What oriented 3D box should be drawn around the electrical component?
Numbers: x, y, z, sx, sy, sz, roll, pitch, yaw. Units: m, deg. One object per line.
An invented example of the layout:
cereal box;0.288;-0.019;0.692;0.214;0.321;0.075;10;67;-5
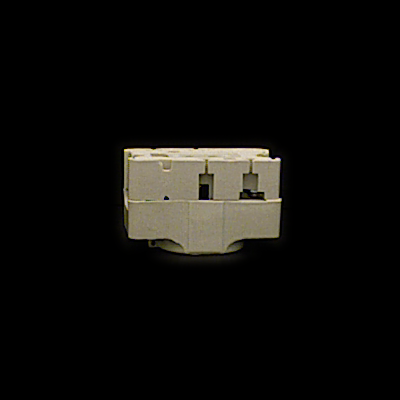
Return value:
electrical component;0.000;0.000;0.650;0.090;0.056;0.049;-1;13;-9
